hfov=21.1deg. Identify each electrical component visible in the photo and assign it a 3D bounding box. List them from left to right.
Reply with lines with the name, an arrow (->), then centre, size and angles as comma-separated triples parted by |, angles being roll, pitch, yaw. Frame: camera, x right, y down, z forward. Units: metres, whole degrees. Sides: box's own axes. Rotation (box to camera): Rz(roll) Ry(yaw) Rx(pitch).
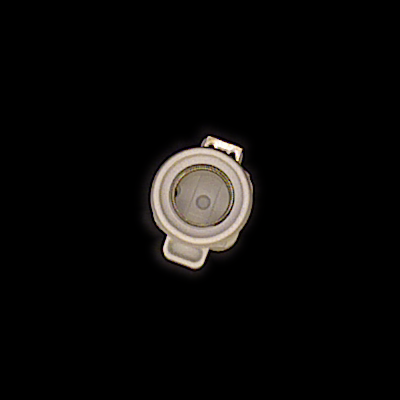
electrical component -> 0.000, 0.000, 0.630 | 0.058, 0.079, 0.056 | 20, -6, 3
